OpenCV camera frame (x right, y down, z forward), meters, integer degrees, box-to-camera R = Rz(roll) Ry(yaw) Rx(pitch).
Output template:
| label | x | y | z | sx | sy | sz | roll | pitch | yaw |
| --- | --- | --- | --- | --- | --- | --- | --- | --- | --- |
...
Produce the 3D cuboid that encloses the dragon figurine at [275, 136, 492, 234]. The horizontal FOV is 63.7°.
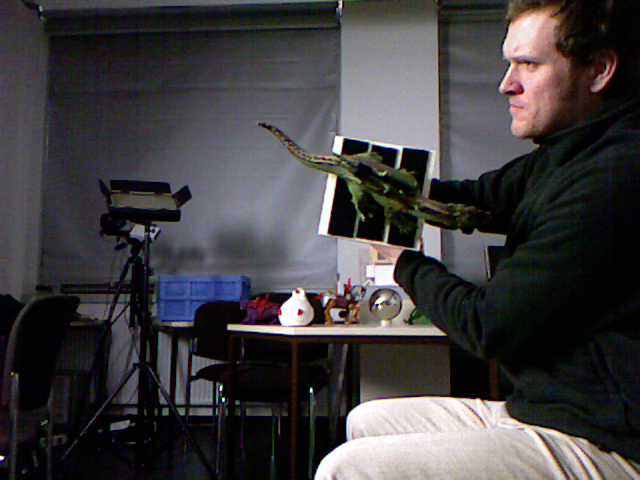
| label | x | y | z | sx | sy | sz | roll | pitch | yaw |
| --- | --- | --- | --- | --- | --- | --- | --- | --- | --- |
| dragon figurine | 0.096 | -0.109 | 0.904 | 0.413 | 0.123 | 0.244 | 23 | -1 | 1 |
